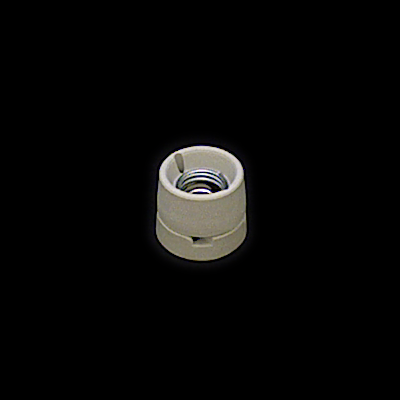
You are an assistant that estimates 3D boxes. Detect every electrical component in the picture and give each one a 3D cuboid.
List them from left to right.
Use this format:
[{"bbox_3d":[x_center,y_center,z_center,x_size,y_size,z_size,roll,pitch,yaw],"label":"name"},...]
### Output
[{"bbox_3d":[0.000,0.000,0.637,0.055,0.047,0.055,0,41,0],"label":"electrical component"}]
